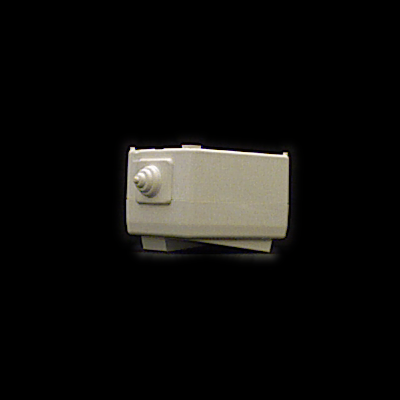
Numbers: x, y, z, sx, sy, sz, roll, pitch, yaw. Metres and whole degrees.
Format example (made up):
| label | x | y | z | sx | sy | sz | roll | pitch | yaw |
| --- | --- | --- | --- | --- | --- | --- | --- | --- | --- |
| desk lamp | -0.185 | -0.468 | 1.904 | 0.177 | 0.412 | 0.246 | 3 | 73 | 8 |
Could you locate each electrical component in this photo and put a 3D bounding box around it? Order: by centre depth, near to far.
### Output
| label | x | y | z | sx | sy | sz | roll | pitch | yaw |
| --- | --- | --- | --- | --- | --- | --- | --- | --- | --- |
| electrical component | 0.000 | 0.000 | 0.643 | 0.097 | 0.061 | 0.061 | 2 | 0 | -40 |
